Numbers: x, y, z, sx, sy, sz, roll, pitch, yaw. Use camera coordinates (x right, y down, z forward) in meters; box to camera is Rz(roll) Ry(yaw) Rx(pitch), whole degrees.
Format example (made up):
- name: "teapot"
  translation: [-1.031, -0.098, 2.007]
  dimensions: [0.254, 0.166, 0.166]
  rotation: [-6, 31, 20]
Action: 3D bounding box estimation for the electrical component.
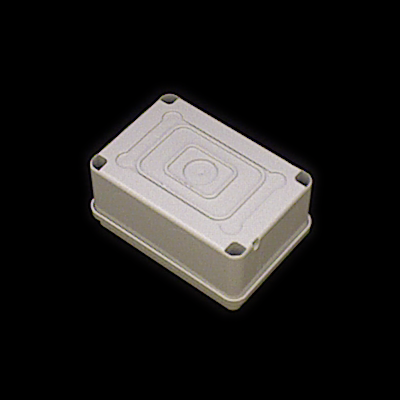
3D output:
- name: "electrical component"
  translation: [0.000, 0.000, 0.629]
  dimensions: [0.112, 0.078, 0.057]
  rotation: [32, -31, 22]
